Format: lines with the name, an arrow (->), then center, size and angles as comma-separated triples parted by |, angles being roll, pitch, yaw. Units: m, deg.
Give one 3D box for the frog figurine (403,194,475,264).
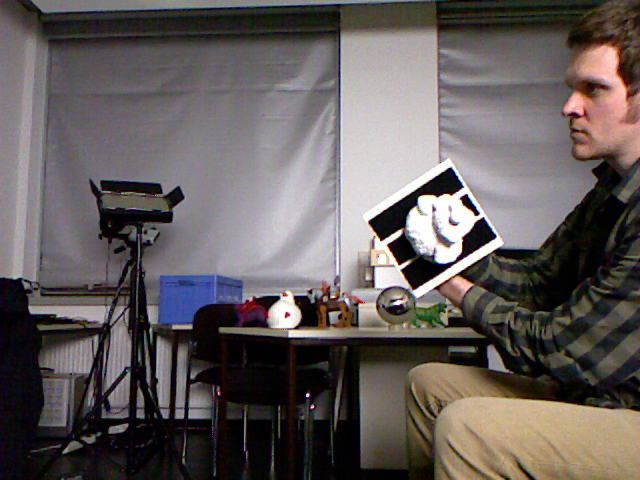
frog figurine -> 0.225, -0.021, 0.976 | 0.123, 0.138, 0.160 | -11, 2, 1
